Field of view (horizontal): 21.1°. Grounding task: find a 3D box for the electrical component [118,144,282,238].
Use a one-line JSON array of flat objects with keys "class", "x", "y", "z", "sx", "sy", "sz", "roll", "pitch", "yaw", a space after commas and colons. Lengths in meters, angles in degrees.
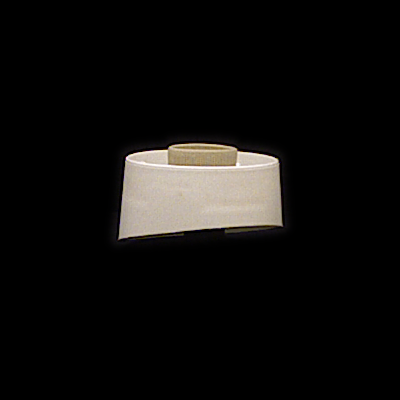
[{"class": "electrical component", "x": 0.000, "y": 0.000, "z": 0.644, "sx": 0.099, "sy": 0.064, "sz": 0.098, "roll": 1, "pitch": 10, "yaw": 0}]
